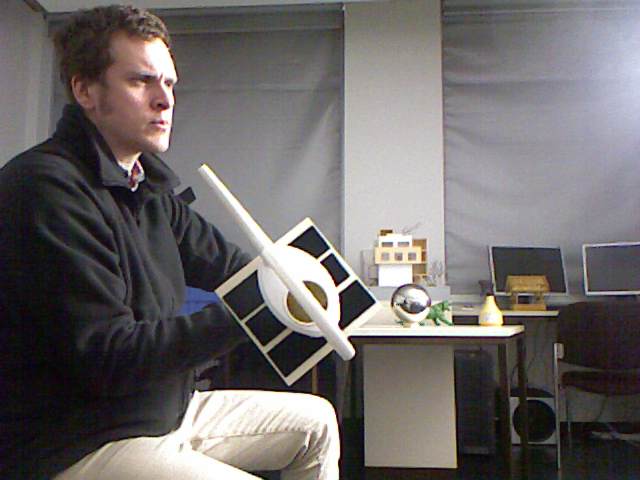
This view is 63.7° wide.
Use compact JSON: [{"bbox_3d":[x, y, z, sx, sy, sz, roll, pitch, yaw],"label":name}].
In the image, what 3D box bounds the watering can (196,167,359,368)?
[{"bbox_3d":[-0.054,0.041,0.785,0.104,0.351,0.224,-37,-6,-2],"label":"watering can"}]
